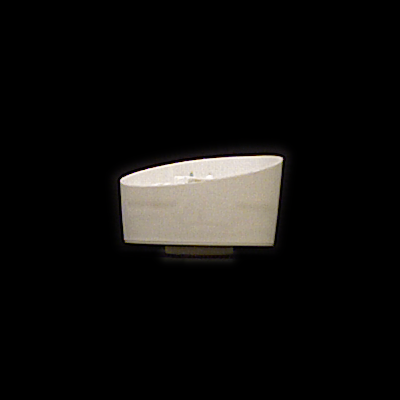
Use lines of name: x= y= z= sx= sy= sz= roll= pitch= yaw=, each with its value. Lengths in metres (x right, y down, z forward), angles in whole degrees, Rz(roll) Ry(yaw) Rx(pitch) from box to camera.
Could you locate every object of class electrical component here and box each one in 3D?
electrical component: x=0.000 y=0.000 z=0.651 sx=0.099 sy=0.064 sz=0.099 roll=1 pitch=-1 yaw=0
